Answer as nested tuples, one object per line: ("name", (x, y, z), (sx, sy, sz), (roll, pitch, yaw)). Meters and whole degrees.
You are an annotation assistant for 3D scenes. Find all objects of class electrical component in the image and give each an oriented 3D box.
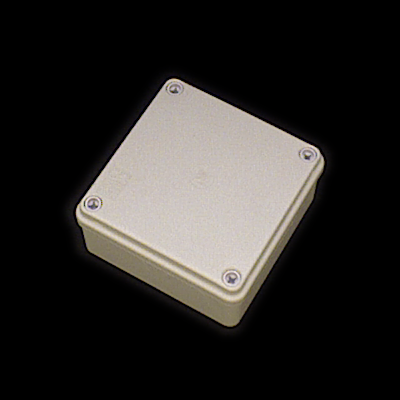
("electrical component", (0.000, 0.000, 0.629), (0.108, 0.109, 0.056), (28, -24, 13))
